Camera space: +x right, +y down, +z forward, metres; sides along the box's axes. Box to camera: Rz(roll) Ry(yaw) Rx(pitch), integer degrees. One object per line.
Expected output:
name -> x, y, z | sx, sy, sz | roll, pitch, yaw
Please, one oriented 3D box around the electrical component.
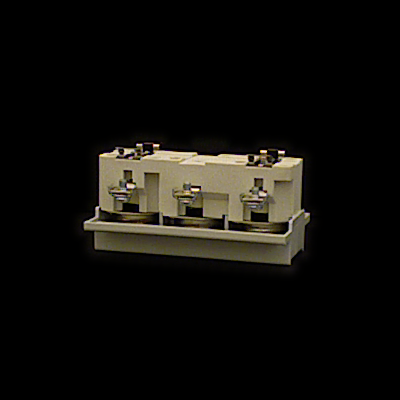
electrical component -> 0.000, 0.000, 0.654 | 0.121, 0.063, 0.078 | 4, 11, 14
